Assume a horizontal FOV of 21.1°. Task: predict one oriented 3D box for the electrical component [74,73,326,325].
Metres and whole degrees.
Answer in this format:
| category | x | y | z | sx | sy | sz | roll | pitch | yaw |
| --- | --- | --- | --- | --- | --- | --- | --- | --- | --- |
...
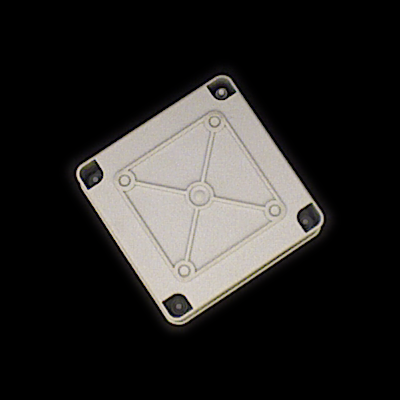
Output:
| category | x | y | z | sx | sy | sz | roll | pitch | yaw |
| --- | --- | --- | --- | --- | --- | --- | --- | --- | --- |
| electrical component | 0.000 | 0.000 | 0.629 | 0.109 | 0.109 | 0.056 | -33 | -6 | -4 |
